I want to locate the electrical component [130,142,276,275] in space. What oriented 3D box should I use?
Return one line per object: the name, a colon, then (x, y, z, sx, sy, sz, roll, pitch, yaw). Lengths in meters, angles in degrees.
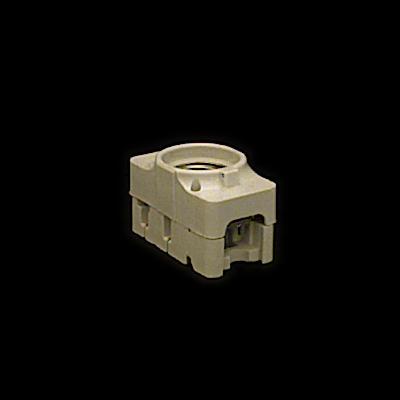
electrical component: (0.000, 0.000, 0.646, 0.050, 0.056, 0.088, -14, 26, -33)
